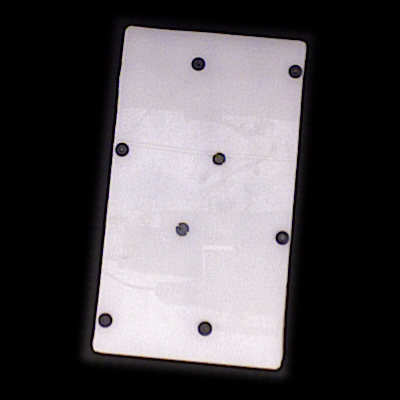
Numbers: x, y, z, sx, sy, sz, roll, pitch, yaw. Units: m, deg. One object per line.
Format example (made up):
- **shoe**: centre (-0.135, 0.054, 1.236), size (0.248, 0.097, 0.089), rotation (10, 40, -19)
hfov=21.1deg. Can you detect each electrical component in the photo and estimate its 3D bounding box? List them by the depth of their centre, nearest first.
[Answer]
- **electrical component**: centre (0.000, 0.000, 0.626), size (0.105, 0.187, 0.060), rotation (5, -7, 1)
